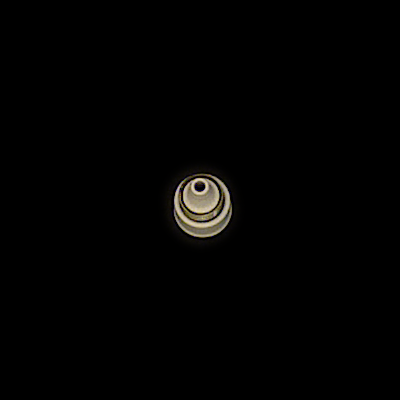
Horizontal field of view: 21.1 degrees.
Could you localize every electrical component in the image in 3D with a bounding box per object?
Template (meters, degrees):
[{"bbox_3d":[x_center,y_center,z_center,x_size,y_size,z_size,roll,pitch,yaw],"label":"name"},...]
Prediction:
[{"bbox_3d":[0.000,0.000,0.636,0.035,0.035,0.061,0,-16,3],"label":"electrical component"}]
